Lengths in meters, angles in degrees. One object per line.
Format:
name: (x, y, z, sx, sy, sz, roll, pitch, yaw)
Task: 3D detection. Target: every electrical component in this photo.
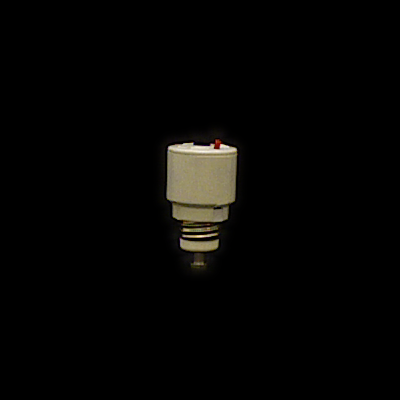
electrical component: (0.000, 0.000, 0.640, 0.040, 0.079, 0.040, 2, 11, 0)
